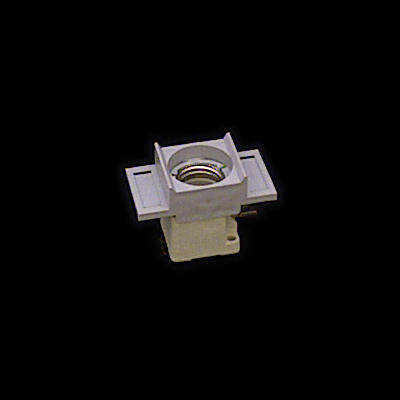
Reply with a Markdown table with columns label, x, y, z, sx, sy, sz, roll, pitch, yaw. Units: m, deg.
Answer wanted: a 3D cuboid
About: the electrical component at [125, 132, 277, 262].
| label | x | y | z | sx | sy | sz | roll | pitch | yaw |
| --- | --- | --- | --- | --- | --- | --- | --- | --- | --- |
| electrical component | 0.000 | 0.000 | 0.630 | 0.081 | 0.064 | 0.041 | -8 | 41 | -10 |
